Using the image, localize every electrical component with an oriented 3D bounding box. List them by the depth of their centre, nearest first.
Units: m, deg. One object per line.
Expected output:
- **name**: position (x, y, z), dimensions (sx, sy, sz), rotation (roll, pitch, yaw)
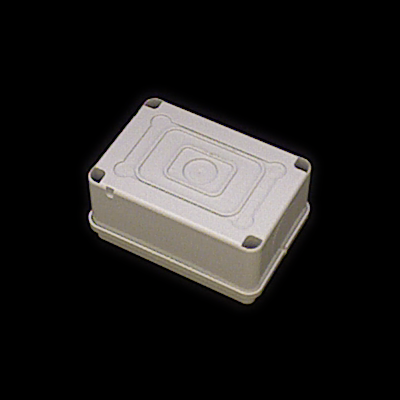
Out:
- **electrical component**: position (0.000, 0.000, 0.629), dimensions (0.113, 0.078, 0.057), rotation (24, -35, 16)
